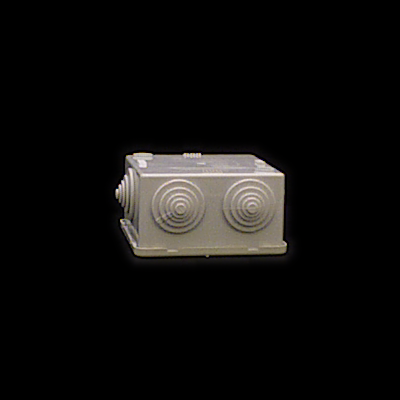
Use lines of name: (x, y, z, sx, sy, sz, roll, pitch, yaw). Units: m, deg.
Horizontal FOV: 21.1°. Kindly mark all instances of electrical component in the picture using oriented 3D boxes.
electrical component: (0.000, 0.000, 0.646, 0.100, 0.049, 0.099, -1, 11, -10)
